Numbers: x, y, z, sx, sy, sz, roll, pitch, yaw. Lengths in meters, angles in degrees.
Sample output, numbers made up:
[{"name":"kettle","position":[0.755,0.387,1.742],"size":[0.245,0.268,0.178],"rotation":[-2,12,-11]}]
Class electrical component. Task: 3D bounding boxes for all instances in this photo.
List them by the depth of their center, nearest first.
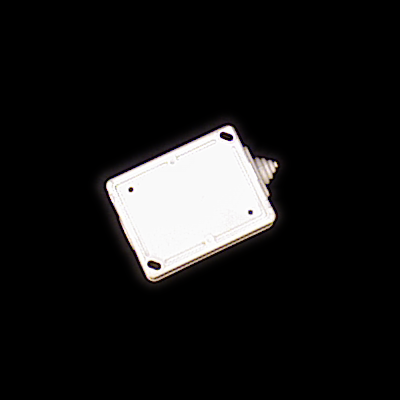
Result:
[{"name":"electrical component","position":[0.000,0.000,0.629],"size":[0.096,0.062,0.061],"rotation":[-25,-6,-3]}]
